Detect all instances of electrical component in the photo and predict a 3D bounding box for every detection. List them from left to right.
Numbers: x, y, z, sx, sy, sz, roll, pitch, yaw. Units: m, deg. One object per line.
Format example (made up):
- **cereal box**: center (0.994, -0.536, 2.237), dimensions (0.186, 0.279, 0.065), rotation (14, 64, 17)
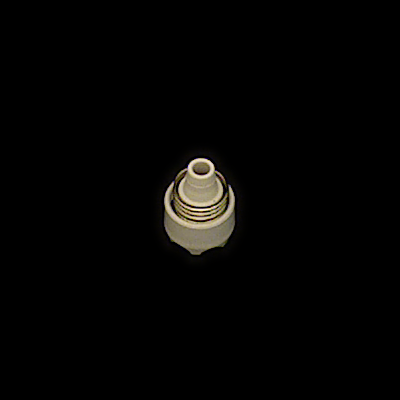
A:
- **electrical component**: center (0.000, 0.000, 0.635), dimensions (0.043, 0.043, 0.062), rotation (0, -37, -2)
